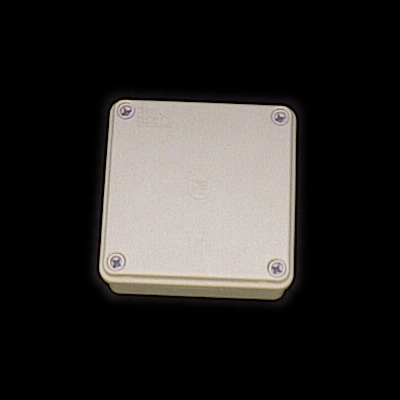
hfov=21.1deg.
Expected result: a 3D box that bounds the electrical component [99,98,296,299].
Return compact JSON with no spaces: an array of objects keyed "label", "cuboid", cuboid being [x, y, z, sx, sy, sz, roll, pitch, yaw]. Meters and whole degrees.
[{"label":"electrical component","cuboid":[0.000,0.000,0.629,0.109,0.109,0.056,2,-16,0]}]
